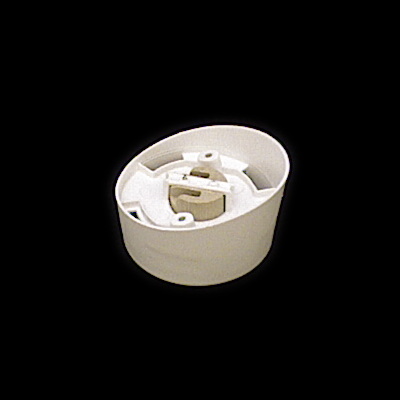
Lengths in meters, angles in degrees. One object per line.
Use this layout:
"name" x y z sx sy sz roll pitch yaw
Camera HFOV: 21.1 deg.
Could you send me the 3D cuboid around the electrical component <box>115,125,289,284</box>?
"electrical component" 0.000 0.000 0.629 0.099 0.065 0.098 1 41 -1
